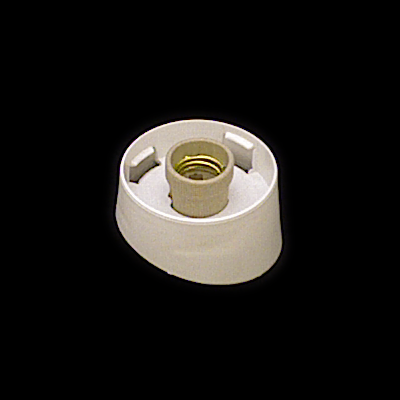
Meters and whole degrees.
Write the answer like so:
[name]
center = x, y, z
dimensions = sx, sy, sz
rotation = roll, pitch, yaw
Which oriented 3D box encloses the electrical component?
[electrical component]
center = 0.000, 0.000, 0.629
dimensions = 0.099, 0.064, 0.098
rotation = 1, 42, -1
